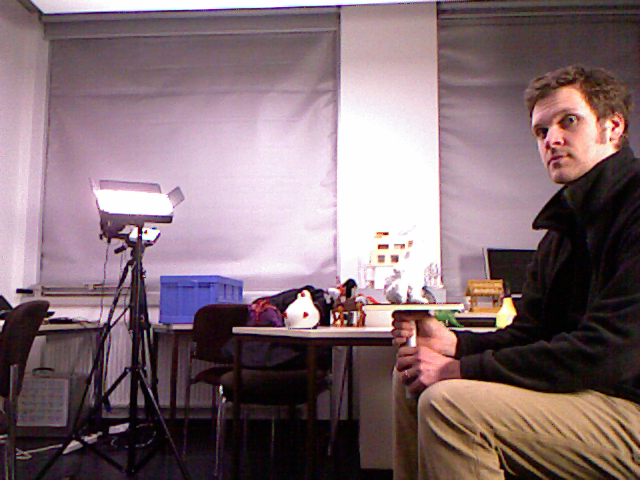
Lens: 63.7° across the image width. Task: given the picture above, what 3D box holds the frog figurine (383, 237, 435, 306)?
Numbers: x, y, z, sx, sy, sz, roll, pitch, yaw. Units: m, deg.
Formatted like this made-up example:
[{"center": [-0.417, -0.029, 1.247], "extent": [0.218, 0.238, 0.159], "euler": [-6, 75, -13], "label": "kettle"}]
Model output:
[{"center": [0.204, 0.072, 1.193], "extent": [0.122, 0.160, 0.137], "euler": [-3, -7, 21], "label": "frog figurine"}]
